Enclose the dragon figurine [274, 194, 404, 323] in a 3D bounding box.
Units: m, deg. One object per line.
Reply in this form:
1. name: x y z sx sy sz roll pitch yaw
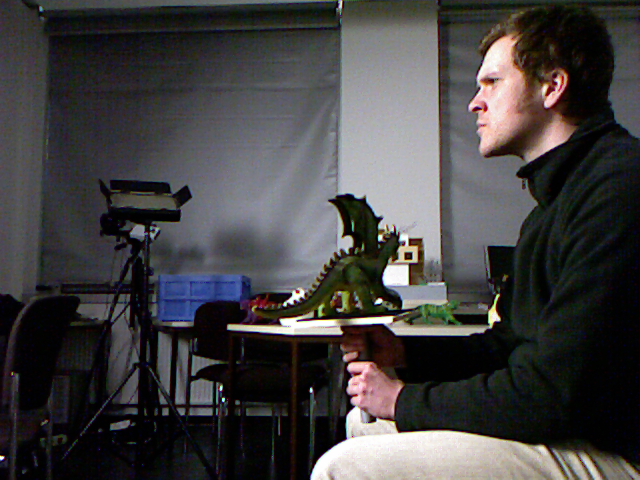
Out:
1. dragon figurine: 0.060 0.030 1.029 0.122 0.244 0.410 -5 -5 38
